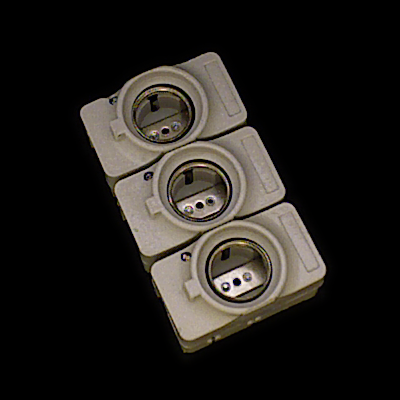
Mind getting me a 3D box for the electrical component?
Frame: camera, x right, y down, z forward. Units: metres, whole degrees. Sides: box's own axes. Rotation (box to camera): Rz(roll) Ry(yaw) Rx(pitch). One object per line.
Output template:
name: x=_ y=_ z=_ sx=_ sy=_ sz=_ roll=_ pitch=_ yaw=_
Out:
electrical component: x=0.000 y=0.000 z=0.631 sx=0.090 sy=0.150 sz=0.062 roll=-24 pitch=-16 yaw=-6
